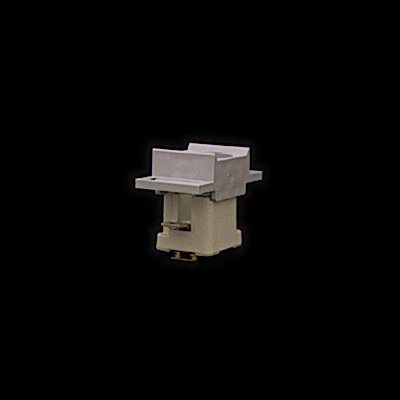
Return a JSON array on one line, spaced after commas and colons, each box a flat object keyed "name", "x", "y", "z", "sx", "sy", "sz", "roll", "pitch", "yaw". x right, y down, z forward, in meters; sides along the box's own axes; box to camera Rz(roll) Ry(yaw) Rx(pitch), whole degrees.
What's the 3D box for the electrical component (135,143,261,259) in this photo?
[{"name": "electrical component", "x": 0.000, "y": 0.000, "z": 0.641, "sx": 0.042, "sy": 0.064, "sz": 0.080, "roll": 9, "pitch": 12, "yaw": 29}]
